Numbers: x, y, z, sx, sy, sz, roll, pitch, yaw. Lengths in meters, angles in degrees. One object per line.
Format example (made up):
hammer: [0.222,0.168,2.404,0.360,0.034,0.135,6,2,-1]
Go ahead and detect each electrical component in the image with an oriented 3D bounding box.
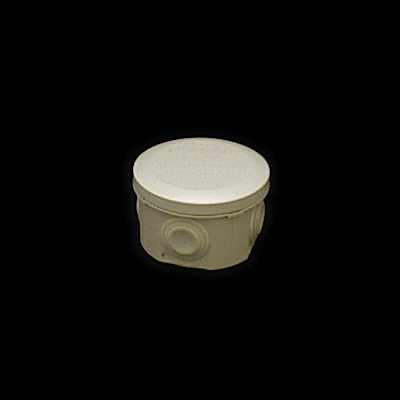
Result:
electrical component: [0.000,0.000,0.637,0.080,0.051,0.079,1,31,0]
